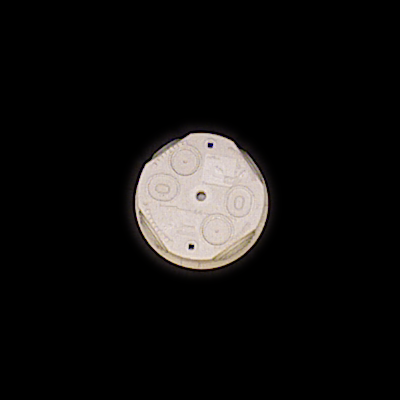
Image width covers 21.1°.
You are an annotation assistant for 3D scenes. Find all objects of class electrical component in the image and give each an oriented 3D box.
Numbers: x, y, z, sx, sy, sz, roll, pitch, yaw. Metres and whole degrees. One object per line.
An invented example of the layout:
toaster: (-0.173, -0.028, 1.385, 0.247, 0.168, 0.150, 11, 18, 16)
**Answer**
electrical component: (0.000, 0.000, 0.633, 0.080, 0.080, 0.050, 0, -7, 0)
